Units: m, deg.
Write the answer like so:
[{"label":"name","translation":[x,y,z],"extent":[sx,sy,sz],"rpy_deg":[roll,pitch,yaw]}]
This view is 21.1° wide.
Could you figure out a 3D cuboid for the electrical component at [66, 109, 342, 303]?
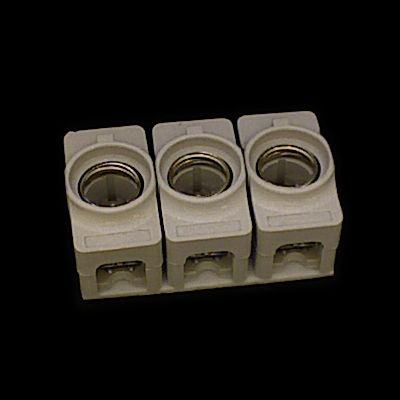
[{"label":"electrical component","translation":[0.000,0.000,0.634],"extent":[0.150,0.088,0.062],"rpy_deg":[-6,-38,-5]}]
